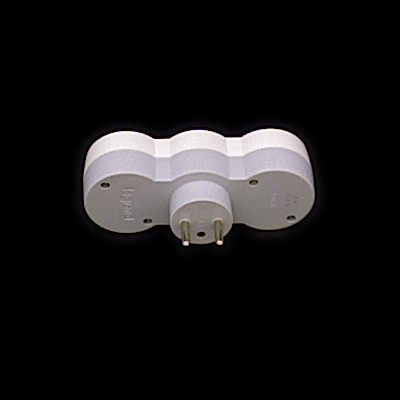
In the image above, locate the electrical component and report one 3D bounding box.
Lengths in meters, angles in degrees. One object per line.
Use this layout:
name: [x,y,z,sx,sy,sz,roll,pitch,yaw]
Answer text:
electrical component: [0.000,0.000,0.634,0.138,0.052,0.073,-1,44,-3]
